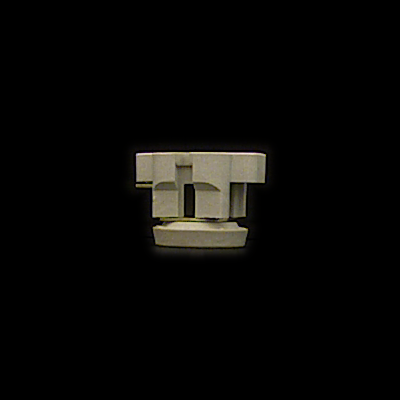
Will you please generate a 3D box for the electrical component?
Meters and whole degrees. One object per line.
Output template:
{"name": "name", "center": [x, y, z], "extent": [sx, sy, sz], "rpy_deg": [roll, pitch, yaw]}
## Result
{"name": "electrical component", "center": [0.000, 0.000, 0.656], "extent": [0.078, 0.057, 0.058], "rpy_deg": [0, 2, 20]}
